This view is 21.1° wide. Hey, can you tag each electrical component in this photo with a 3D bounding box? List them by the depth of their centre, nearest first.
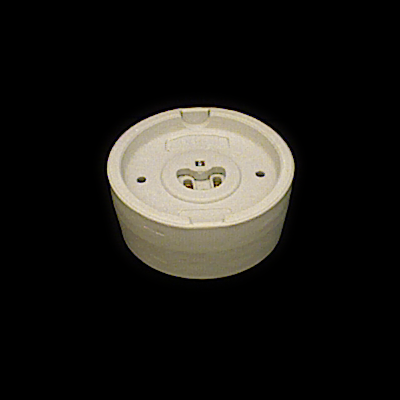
[{"bbox_3d":[0.000,0.000,0.640,0.108,0.061,0.106,1,43,0],"label":"electrical component"}]
